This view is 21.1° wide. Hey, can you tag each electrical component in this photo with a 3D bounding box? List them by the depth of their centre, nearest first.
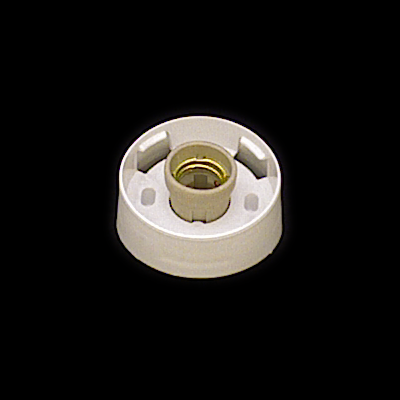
[{"bbox_3d":[0.000,0.000,0.626,0.099,0.098,0.064,0,-38,-1],"label":"electrical component"}]
